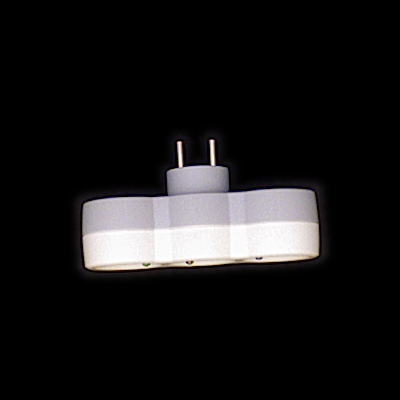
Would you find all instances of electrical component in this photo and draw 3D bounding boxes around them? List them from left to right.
[{"bbox_3d":[0.000,0.000,0.632,0.138,0.074,0.052,-3,-9,0],"label":"electrical component"}]
